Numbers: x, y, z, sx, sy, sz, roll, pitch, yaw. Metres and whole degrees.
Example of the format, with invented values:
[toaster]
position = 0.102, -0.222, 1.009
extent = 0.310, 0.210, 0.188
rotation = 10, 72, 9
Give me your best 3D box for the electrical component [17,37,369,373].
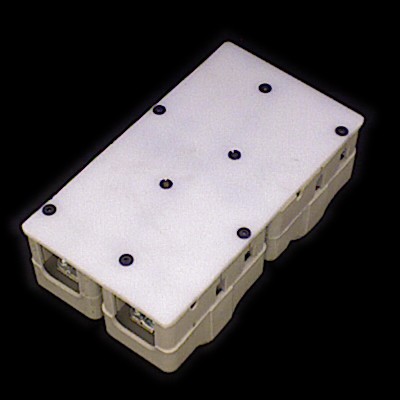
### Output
[electrical component]
position = 0.000, 0.000, 0.627
extent = 0.105, 0.186, 0.060
rotation = 32, -32, 22
